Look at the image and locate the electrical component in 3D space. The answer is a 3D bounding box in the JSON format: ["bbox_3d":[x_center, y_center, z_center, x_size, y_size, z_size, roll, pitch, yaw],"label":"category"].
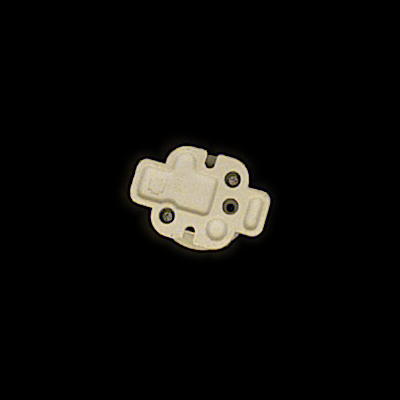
[{"bbox_3d":[0.000,0.000,0.637,0.078,0.058,0.057,15,-4,3],"label":"electrical component"}]
